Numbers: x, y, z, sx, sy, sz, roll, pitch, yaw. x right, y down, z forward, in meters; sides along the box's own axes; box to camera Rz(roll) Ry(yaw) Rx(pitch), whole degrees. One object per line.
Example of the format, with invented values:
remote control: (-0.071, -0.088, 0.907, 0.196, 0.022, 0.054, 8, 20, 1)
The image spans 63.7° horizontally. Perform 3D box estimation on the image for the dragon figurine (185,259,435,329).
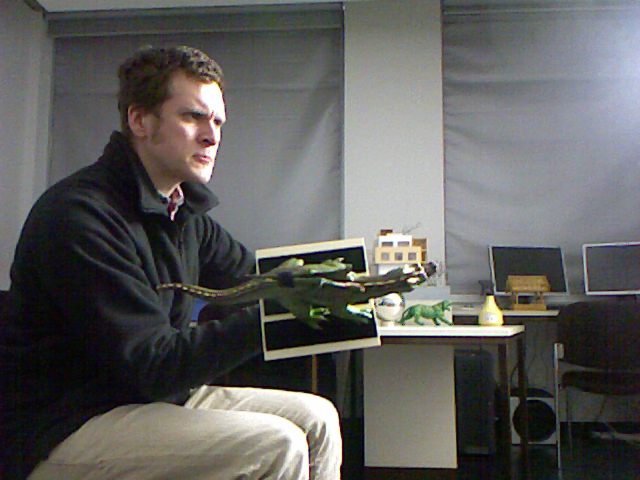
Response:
dragon figurine: (-0.030, 0.068, 0.802, 0.412, 0.124, 0.241, -3, -15, -1)
